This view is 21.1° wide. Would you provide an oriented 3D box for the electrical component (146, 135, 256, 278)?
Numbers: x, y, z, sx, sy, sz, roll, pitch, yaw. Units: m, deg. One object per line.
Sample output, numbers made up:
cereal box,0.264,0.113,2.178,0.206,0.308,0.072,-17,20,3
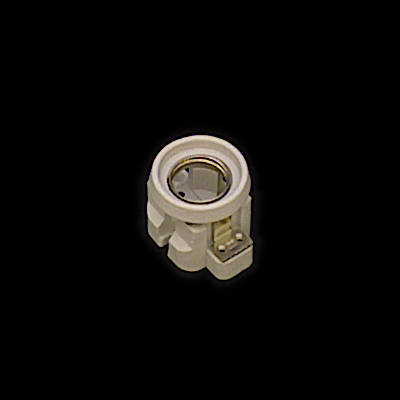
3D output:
electrical component,0.000,0.000,0.629,0.058,0.078,0.057,-31,-31,-22
